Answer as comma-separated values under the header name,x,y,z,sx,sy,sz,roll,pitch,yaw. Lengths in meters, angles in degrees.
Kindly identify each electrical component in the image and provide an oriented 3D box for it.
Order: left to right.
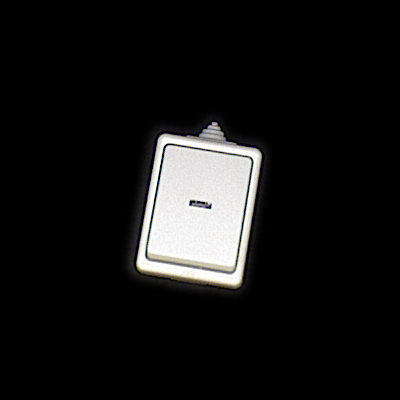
name,x,y,z,sx,sy,sz,roll,pitch,yaw
electrical component,0.000,0.000,0.627,0.062,0.096,0.061,9,-7,2
